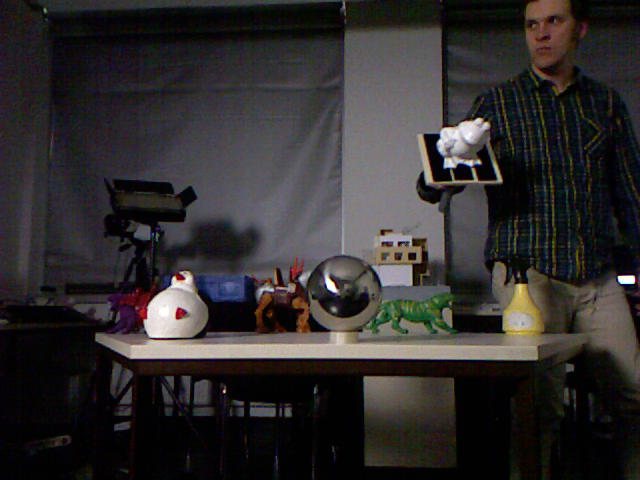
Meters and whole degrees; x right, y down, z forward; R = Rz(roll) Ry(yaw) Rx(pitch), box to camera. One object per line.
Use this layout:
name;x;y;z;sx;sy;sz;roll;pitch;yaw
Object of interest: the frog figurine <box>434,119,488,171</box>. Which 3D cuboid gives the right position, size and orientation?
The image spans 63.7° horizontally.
frog figurine;0.386;-0.276;1.399;0.137;0.126;0.155;9;-40;4
